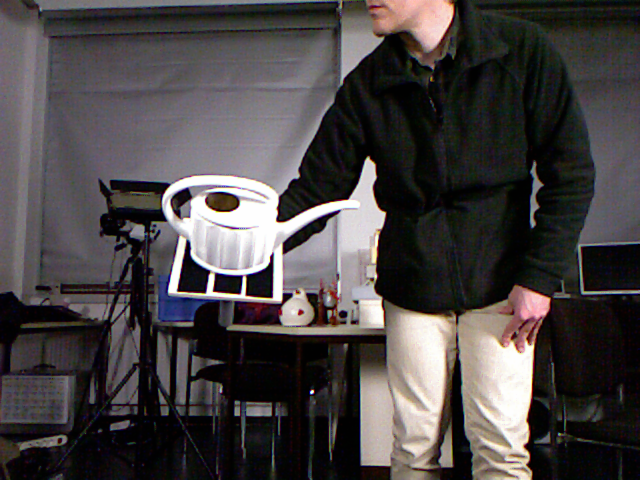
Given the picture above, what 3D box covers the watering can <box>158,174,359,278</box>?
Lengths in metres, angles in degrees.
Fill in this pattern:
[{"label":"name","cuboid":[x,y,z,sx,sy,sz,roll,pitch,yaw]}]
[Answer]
[{"label":"watering can","cuboid":[-0.116,-0.022,0.942,0.348,0.107,0.219,6,-44,-7]}]
